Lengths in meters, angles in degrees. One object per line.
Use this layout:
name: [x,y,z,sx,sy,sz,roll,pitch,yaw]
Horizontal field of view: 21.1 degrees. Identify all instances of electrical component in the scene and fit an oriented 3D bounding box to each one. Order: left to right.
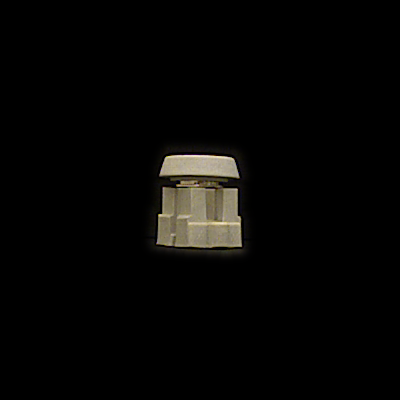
electrical component: [0.000,0.000,0.656,0.049,0.055,0.066,3,1,-30]
